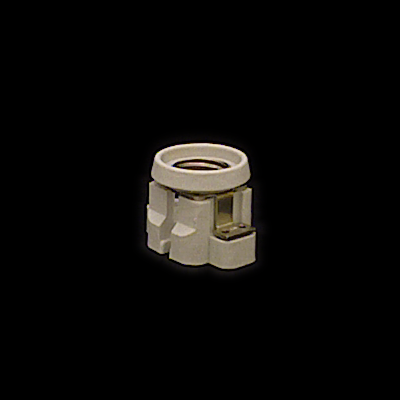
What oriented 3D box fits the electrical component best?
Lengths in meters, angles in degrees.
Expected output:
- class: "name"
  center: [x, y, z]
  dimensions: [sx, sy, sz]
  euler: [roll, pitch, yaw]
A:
- class: "electrical component"
  center: [0.000, 0.000, 0.639]
  dimensions: [0.057, 0.057, 0.078]
  euler: [-16, 27, -37]
